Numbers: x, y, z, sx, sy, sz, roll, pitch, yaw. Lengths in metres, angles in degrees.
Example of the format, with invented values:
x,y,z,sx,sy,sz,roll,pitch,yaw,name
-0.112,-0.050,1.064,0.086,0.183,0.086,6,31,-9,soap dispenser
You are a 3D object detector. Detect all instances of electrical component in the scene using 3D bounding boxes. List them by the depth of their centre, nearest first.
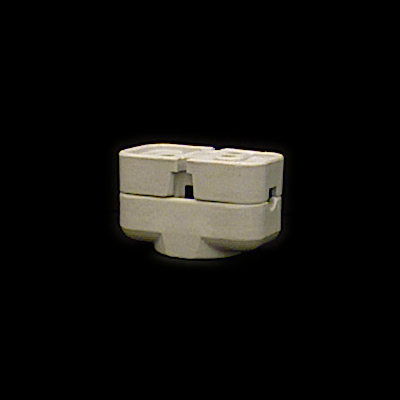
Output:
x,y,z,sx,sy,sz,roll,pitch,yaw,name
0.000,0.000,0.654,0.094,0.060,0.054,6,12,24,electrical component
